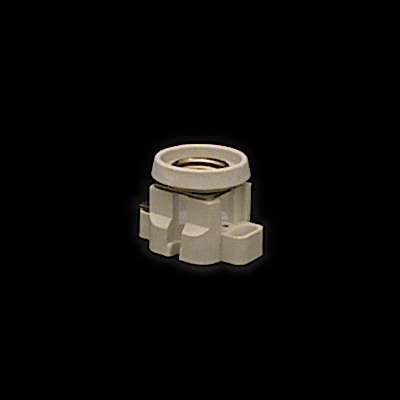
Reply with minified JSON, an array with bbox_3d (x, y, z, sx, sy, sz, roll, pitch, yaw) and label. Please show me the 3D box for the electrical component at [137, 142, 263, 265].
[{"bbox_3d":[0.000,0.000,0.639,0.078,0.057,0.057,15,25,32],"label":"electrical component"}]
